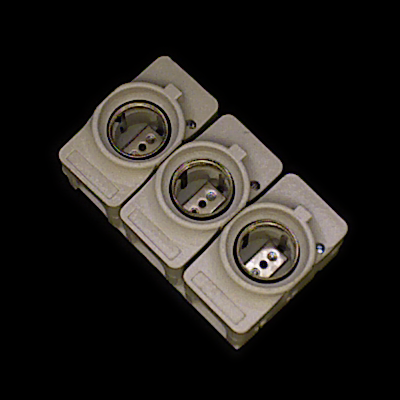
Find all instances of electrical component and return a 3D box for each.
[{"bbox_3d":[0.000,0.000,0.632,0.089,0.150,0.062,-44,-12,-12],"label":"electrical component"}]
